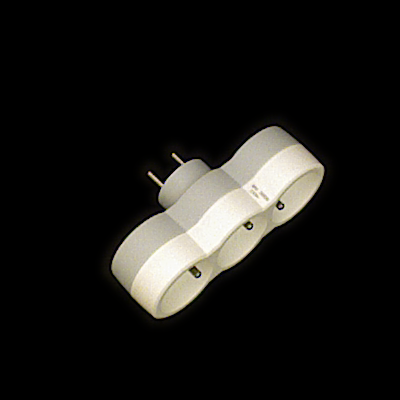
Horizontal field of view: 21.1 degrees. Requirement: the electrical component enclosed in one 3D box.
[{"bbox_3d":[0.000,0.000,0.639,0.139,0.073,0.052,-39,-22,-18],"label":"electrical component"}]
